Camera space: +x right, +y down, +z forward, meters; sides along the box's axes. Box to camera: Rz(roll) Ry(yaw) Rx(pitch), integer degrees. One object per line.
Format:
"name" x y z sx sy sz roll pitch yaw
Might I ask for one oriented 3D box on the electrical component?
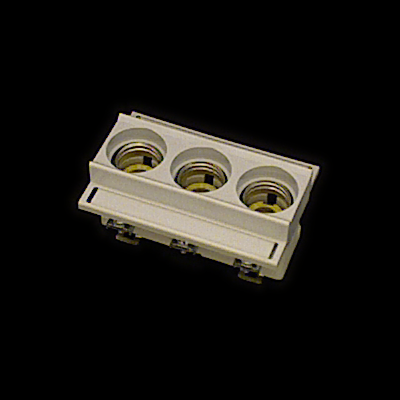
"electrical component" 0.000 0.000 0.640 0.121 0.078 0.063 17 -36 13
